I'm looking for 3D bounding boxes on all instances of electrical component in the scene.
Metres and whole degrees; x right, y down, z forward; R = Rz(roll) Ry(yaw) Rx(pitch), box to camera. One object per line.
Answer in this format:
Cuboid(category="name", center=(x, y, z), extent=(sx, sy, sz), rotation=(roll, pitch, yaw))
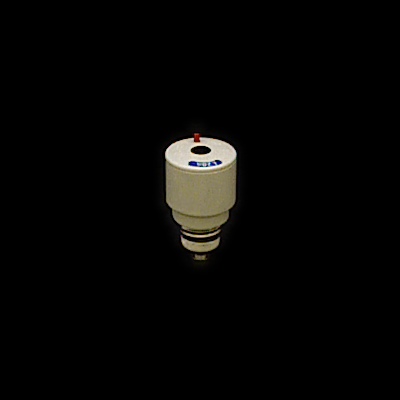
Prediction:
Cuboid(category="electrical component", center=(0.000, 0.000, 0.631), extent=(0.040, 0.079, 0.039), rotation=(0, 31, 0))
